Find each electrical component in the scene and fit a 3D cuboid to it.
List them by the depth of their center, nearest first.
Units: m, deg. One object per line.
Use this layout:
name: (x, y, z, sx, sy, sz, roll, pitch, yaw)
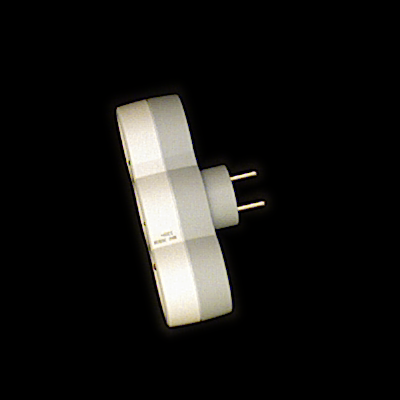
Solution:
electrical component: (0.000, 0.000, 0.637, 0.074, 0.138, 0.052, -13, -16, -5)
